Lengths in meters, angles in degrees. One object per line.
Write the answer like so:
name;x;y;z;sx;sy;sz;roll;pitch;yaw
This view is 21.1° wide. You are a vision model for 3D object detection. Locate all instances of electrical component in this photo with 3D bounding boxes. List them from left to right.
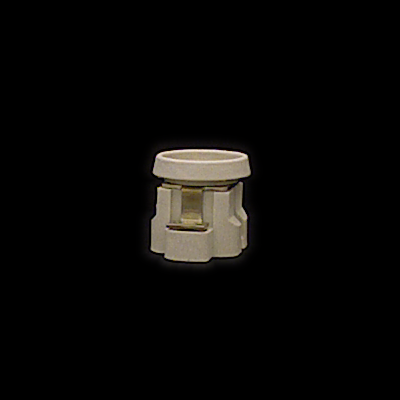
electrical component;0.000;0.000;0.642;0.058;0.057;0.078;4;11;12
